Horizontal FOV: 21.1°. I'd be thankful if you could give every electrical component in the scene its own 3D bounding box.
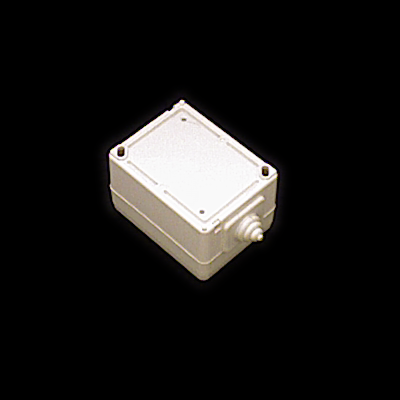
[{"bbox_3d":[0.000,0.000,0.627,0.096,0.061,0.062,39,61,25],"label":"electrical component"}]
